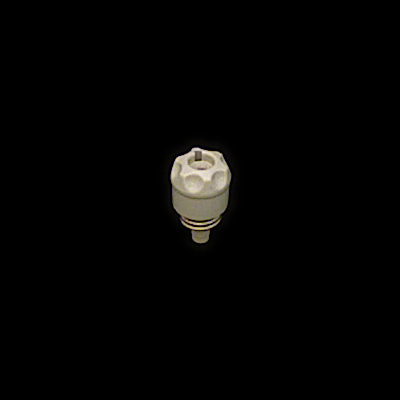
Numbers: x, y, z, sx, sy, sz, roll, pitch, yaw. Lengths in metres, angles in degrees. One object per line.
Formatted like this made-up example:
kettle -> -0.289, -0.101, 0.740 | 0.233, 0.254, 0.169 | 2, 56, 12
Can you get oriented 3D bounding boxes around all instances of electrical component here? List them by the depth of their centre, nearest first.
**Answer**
electrical component -> 0.000, 0.000, 0.640 | 0.035, 0.062, 0.035 | 1, 42, 0
